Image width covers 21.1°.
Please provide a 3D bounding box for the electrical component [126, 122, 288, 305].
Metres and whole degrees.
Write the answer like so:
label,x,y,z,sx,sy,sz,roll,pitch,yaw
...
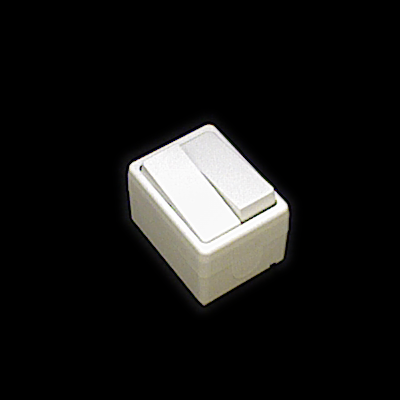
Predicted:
label,x,y,z,sx,sy,sz,roll,pitch,yaw
electrical component,0.000,0.000,0.629,0.062,0.096,0.061,-28,-32,-21
